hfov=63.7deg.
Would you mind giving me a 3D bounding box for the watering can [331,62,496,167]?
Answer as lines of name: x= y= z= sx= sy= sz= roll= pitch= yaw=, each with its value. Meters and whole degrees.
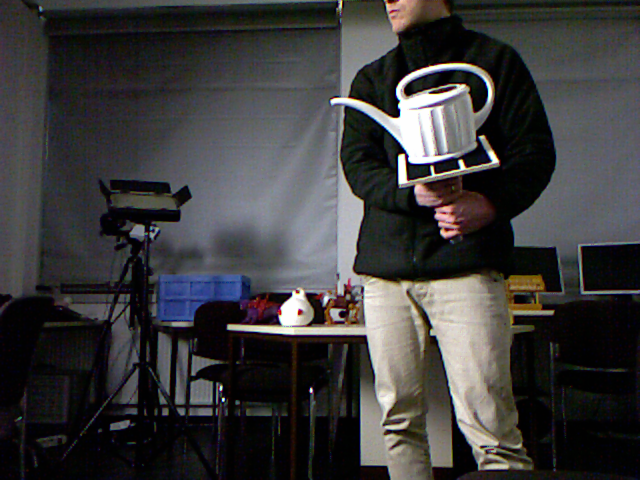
watering can: x=0.214 y=-0.265 z=1.142 sx=0.347 sy=0.221 sz=0.106 roll=-11 pitch=26 yaw=14
